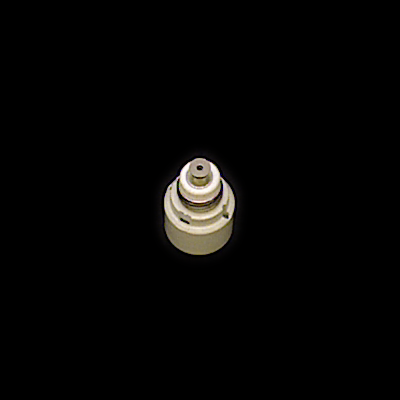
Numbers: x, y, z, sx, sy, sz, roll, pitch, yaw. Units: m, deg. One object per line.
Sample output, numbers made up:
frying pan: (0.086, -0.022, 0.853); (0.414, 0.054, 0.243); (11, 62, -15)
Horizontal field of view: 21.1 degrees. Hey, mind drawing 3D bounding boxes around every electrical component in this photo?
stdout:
electrical component: (0.000, 0.000, 0.619); (0.040, 0.040, 0.078); (0, -27, -1)
